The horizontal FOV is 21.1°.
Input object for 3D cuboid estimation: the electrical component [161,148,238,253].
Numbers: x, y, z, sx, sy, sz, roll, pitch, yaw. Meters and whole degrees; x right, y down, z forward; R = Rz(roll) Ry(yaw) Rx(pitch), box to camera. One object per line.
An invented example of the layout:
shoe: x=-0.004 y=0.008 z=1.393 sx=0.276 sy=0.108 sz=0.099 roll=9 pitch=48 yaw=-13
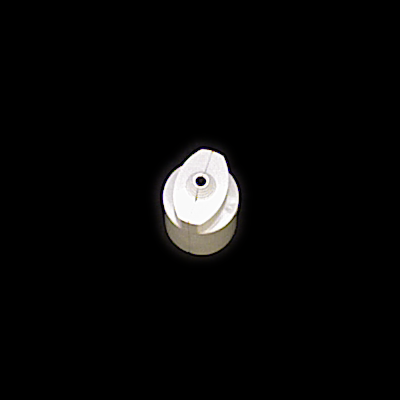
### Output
electrical component: x=0.000 y=0.000 z=0.616 sx=0.043 sy=0.043 sz=0.080 roll=0 pitch=-17 yaw=0
